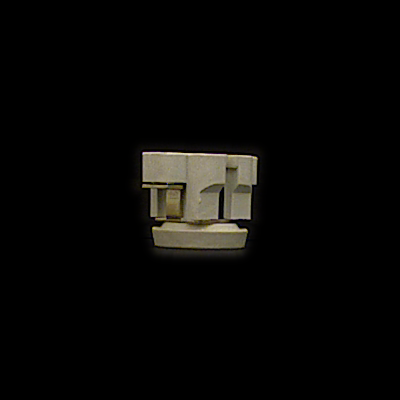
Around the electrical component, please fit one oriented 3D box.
[{"bbox_3d":[0.000,0.000,0.654,0.057,0.057,0.079,4,4,45],"label":"electrical component"}]
